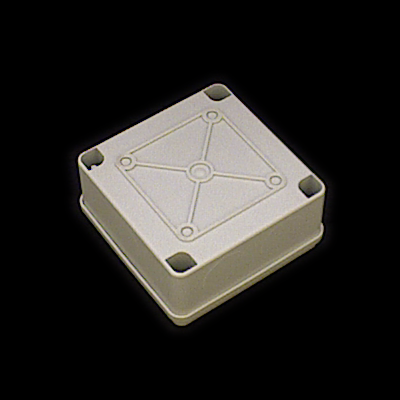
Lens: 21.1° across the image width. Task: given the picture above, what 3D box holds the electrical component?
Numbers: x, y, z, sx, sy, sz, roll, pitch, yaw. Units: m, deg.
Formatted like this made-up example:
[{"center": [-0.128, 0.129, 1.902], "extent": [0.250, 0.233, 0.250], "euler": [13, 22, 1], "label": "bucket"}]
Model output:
[{"center": [0.000, 0.000, 0.628], "extent": [0.109, 0.108, 0.056], "euler": [-30, -32, -21], "label": "electrical component"}]
